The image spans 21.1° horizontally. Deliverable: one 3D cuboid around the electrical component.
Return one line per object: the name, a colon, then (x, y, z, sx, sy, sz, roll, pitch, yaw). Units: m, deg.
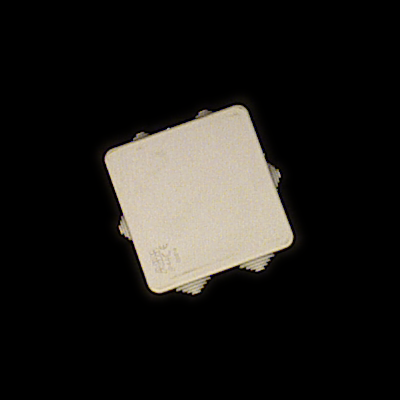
electrical component: (0.000, 0.000, 0.642, 0.100, 0.100, 0.048, -19, -6, -2)
